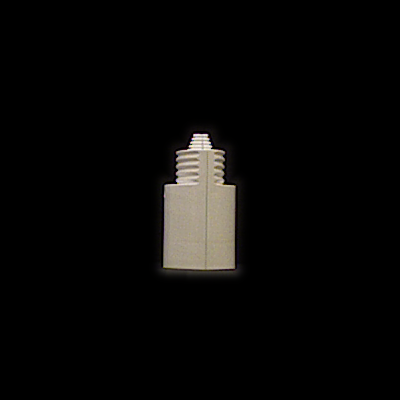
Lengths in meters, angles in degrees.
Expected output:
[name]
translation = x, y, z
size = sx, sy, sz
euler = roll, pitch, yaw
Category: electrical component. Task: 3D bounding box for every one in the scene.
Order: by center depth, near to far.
[electrical component]
translation = 0.000, 0.000, 0.650
size = 0.043, 0.081, 0.043
euler = 1, 1, 0
